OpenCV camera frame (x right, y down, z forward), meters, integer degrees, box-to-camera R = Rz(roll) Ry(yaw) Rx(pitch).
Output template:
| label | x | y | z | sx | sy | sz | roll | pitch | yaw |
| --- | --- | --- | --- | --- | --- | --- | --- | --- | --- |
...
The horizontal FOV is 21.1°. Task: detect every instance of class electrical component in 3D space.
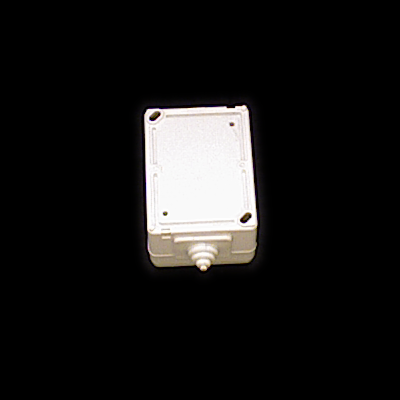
| label | x | y | z | sx | sy | sz | roll | pitch | yaw |
| --- | --- | --- | --- | --- | --- | --- | --- | --- | --- |
| electrical component | 0.000 | 0.000 | 0.627 | 0.062 | 0.096 | 0.060 | -2 | -26 | -1 |
